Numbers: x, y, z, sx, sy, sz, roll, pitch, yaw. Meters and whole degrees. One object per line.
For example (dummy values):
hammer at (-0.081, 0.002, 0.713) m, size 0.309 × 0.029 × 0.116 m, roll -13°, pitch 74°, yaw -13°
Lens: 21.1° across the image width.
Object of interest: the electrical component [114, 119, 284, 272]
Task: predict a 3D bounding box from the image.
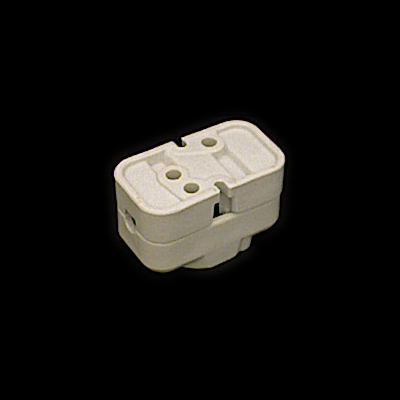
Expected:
electrical component at (0.000, 0.000, 0.637) m, size 0.095 × 0.060 × 0.053 m, roll -22°, pitch 47°, yaw -24°
